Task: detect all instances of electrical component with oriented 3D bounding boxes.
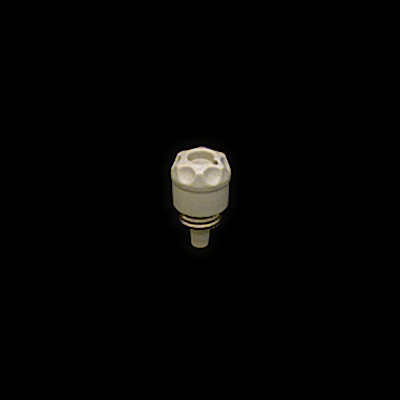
[{"bbox_3d":[0.000,0.000,0.639,0.035,0.062,0.035,1,33,0],"label":"electrical component"}]
